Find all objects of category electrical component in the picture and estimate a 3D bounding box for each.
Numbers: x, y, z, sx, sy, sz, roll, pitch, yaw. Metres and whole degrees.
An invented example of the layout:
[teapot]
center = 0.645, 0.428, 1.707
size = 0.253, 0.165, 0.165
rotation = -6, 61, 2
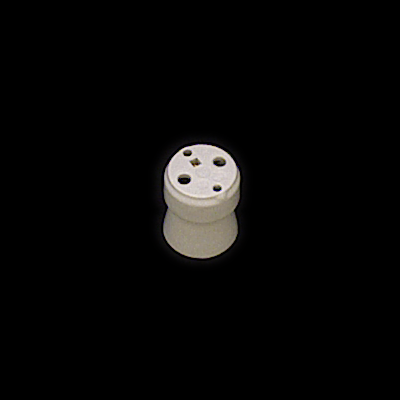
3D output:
[electrical component]
center = 0.000, 0.000, 0.631
size = 0.045, 0.044, 0.055
rotation = 0, -37, -1
